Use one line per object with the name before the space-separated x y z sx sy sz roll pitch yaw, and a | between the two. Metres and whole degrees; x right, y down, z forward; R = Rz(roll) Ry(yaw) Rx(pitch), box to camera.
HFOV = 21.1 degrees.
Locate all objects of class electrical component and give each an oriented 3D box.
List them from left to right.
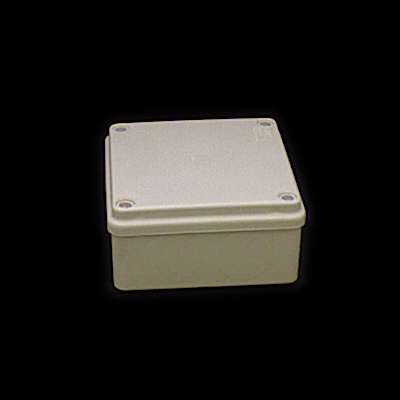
electrical component | 0.000 0.000 0.634 0.109 0.057 0.107 -2 32 -5
